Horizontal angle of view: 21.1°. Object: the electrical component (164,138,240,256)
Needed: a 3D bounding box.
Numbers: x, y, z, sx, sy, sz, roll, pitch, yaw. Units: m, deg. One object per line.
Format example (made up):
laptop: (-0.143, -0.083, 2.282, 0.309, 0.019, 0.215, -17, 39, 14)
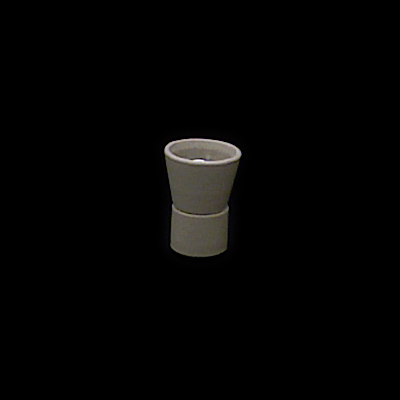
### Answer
electrical component: (0.000, 0.000, 0.638, 0.044, 0.066, 0.044, 2, 21, -1)
